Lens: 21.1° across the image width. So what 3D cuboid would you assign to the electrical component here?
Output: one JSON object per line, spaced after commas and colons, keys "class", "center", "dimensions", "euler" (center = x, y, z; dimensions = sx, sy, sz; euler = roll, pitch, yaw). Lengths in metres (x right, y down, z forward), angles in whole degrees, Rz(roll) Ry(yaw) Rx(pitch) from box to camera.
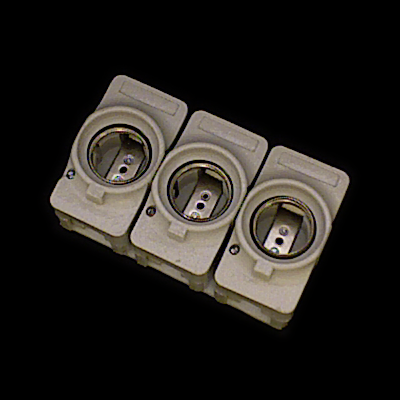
{"class": "electrical component", "center": [0.000, 0.000, 0.631], "dimensions": [0.150, 0.089, 0.062], "euler": [24, -15, 8]}
